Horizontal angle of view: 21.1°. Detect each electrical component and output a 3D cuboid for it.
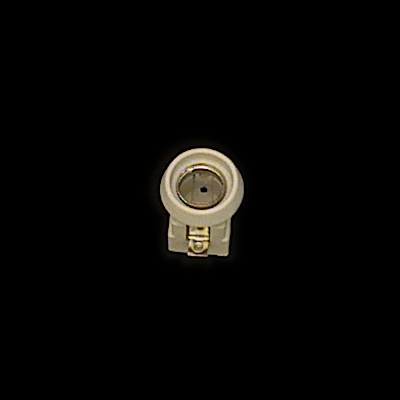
[{"bbox_3d":[0.000,0.000,0.636,0.048,0.066,0.055,2,-26,4],"label":"electrical component"}]
